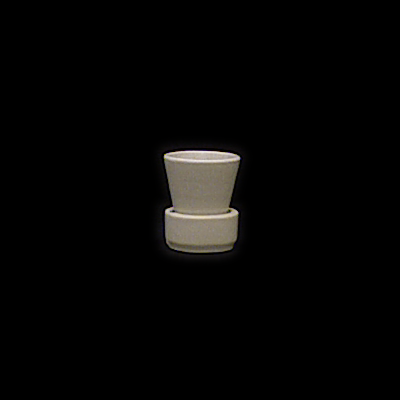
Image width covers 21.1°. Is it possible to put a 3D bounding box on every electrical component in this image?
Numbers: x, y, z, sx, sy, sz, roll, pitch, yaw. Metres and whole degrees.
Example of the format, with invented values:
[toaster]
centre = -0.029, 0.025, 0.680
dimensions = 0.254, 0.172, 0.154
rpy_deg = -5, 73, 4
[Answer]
[electrical component]
centre = 0.000, 0.000, 0.645
dimensions = 0.045, 0.055, 0.044
rpy_deg = 1, 11, 0
